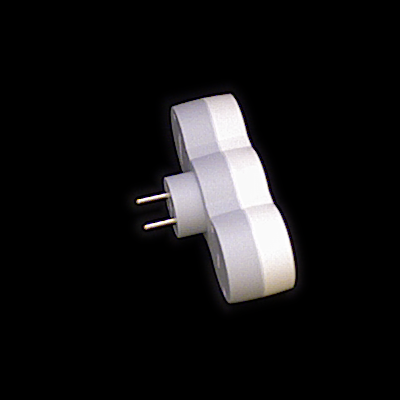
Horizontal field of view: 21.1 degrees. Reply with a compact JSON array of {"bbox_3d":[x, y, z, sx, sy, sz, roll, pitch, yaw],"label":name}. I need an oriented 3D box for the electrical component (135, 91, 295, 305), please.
[{"bbox_3d":[0.000,0.000,0.630,0.074,0.138,0.052,-13,-35,-8],"label":"electrical component"}]
